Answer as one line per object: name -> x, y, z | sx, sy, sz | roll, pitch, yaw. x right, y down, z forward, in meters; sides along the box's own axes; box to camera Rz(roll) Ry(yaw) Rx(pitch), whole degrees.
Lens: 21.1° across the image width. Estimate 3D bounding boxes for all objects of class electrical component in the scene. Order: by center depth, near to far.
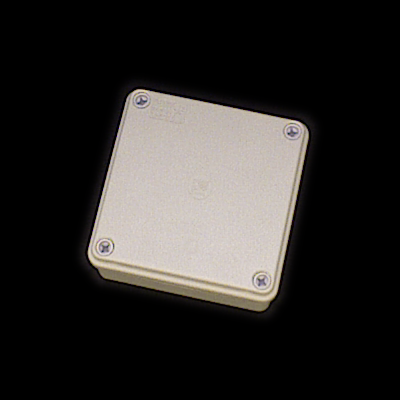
electrical component -> 0.000, 0.000, 0.629 | 0.109, 0.109, 0.056 | 12, -16, 3
